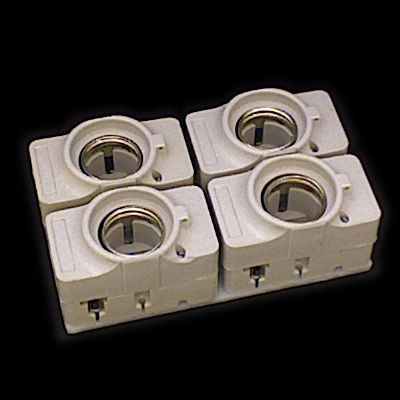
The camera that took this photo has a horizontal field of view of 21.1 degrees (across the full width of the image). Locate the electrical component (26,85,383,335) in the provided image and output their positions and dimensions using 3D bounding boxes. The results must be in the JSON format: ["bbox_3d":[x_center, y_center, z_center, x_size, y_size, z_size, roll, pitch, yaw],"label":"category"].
[{"bbox_3d":[0.000,0.000,0.628,0.186,0.105,0.060,-11,-37,-9],"label":"electrical component"}]
